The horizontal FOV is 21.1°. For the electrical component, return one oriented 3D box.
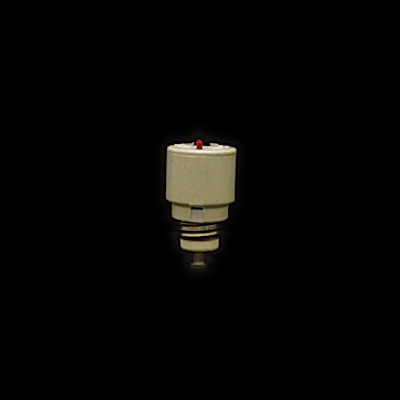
[{"bbox_3d":[0.000,0.000,0.639,0.040,0.079,0.040,1,12,0],"label":"electrical component"}]
